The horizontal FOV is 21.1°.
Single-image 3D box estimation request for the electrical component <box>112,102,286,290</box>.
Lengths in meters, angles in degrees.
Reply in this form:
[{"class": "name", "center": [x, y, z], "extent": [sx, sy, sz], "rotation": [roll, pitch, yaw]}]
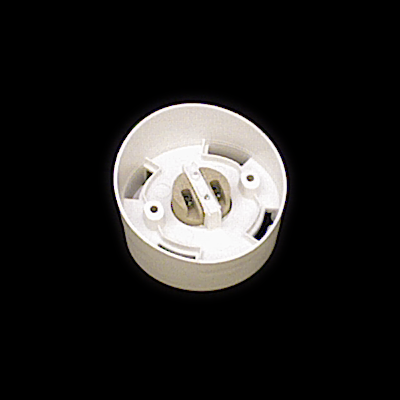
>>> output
[{"class": "electrical component", "center": [0.000, 0.000, 0.626], "extent": [0.099, 0.098, 0.064], "rotation": [0, -38, 0]}]
